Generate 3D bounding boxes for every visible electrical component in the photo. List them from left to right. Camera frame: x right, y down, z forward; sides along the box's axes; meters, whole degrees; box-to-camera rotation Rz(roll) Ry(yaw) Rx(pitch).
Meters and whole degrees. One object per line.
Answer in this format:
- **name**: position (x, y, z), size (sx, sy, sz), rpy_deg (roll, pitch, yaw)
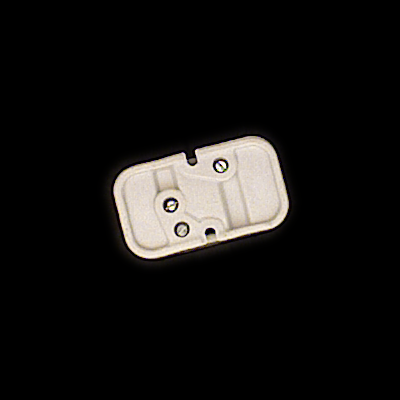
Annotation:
- **electrical component**: position (0.000, 0.000, 0.637), size (0.095, 0.054, 0.059), rpy_deg (-14, -6, -1)
